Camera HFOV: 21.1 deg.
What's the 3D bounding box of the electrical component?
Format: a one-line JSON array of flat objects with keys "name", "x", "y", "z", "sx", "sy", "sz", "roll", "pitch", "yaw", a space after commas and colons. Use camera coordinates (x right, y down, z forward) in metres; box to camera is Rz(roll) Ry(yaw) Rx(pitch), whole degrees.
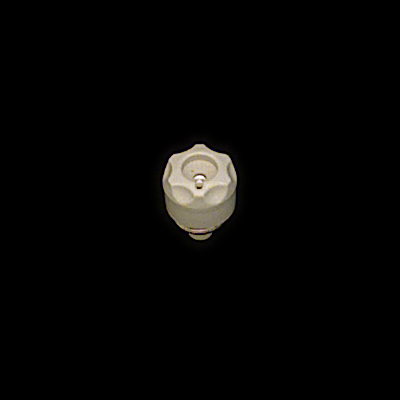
[{"name": "electrical component", "x": 0.000, "y": 0.000, "z": 0.636, "sx": 0.043, "sy": 0.043, "sz": 0.062, "roll": 0, "pitch": -38, "yaw": 0}]
